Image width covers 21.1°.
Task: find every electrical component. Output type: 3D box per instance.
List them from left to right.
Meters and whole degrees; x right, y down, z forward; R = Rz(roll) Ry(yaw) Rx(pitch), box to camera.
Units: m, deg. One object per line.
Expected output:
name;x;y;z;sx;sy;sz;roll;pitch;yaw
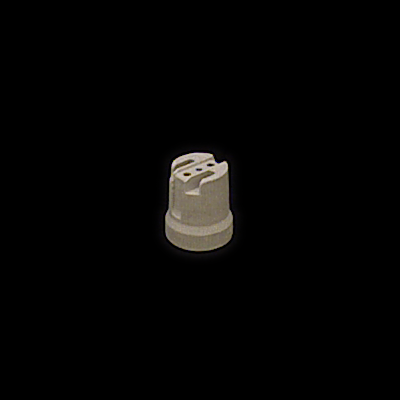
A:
electrical component;0.000;0.000;0.638;0.040;0.046;0.040;1;31;0
